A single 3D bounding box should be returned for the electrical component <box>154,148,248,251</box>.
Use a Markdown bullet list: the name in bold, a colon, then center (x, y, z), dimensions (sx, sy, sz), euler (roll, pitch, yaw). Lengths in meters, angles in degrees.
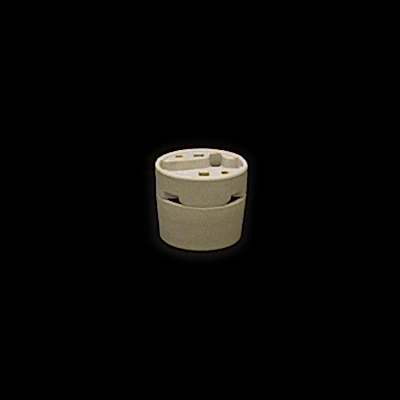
- **electrical component**: center (0.000, 0.000, 0.640), dimensions (0.055, 0.047, 0.055), euler (1, 21, 0)
